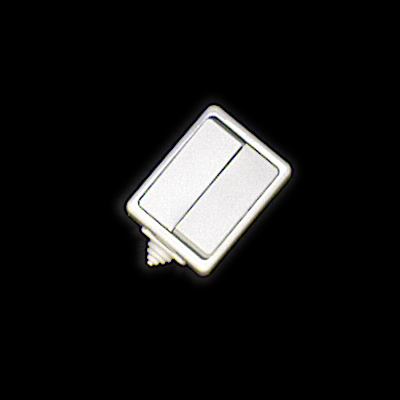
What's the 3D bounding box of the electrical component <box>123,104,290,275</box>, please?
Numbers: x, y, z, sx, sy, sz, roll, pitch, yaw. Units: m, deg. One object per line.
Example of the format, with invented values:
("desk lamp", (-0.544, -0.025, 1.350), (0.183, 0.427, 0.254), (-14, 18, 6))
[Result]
("electrical component", (0.000, 0.000, 0.626), (0.062, 0.096, 0.061), (40, -5, 5))
